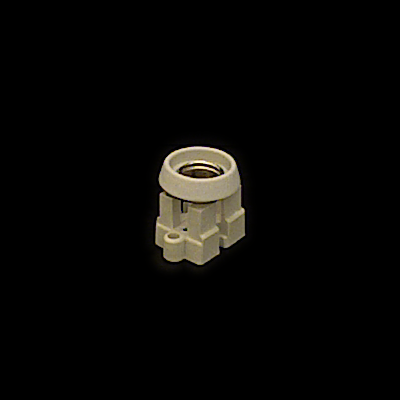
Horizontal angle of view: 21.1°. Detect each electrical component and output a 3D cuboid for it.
[{"bbox_3d":[0.000,0.000,0.644,0.048,0.056,0.066,25,39,30],"label":"electrical component"}]
